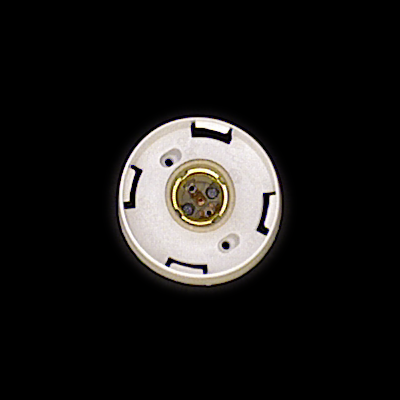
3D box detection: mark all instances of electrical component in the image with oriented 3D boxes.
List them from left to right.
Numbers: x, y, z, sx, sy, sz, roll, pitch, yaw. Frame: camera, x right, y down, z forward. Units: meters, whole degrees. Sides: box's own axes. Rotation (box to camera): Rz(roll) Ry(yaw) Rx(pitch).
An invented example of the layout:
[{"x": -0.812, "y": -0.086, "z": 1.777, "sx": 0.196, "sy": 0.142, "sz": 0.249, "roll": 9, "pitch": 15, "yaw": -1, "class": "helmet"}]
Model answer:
[{"x": 0.000, "y": 0.000, "z": 0.625, "sx": 0.099, "sy": 0.099, "sz": 0.064, "roll": 0, "pitch": -7, "yaw": 0, "class": "electrical component"}]
